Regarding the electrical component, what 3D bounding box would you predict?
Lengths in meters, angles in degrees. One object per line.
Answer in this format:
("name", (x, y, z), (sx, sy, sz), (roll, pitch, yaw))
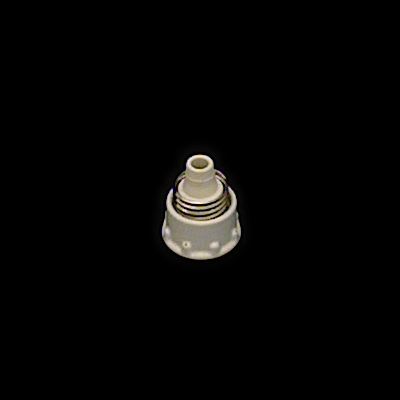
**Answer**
("electrical component", (0.000, 0.000, 0.636), (0.048, 0.062, 0.047), (0, 43, 1))
